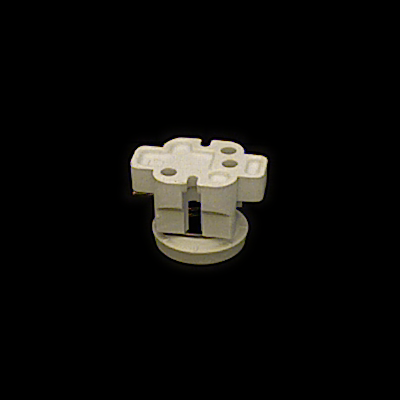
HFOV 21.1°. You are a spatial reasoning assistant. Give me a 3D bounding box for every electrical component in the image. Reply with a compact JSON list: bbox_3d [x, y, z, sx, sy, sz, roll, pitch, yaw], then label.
[{"bbox_3d":[0.000,0.000,0.641,0.078,0.057,0.057,4,33,7],"label":"electrical component"}]
